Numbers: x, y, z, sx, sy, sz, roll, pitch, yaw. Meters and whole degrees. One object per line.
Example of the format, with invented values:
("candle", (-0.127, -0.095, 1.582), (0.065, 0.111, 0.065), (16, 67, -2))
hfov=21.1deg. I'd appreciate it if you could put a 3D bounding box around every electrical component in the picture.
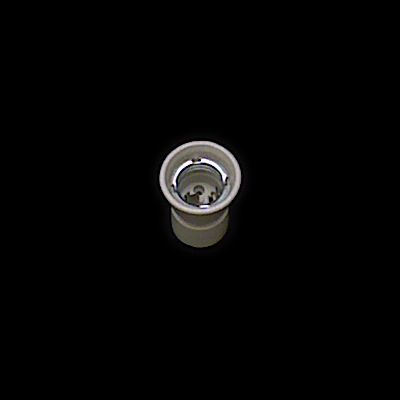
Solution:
("electrical component", (0.000, 0.000, 0.624), (0.044, 0.044, 0.065), (0, -26, -1))
